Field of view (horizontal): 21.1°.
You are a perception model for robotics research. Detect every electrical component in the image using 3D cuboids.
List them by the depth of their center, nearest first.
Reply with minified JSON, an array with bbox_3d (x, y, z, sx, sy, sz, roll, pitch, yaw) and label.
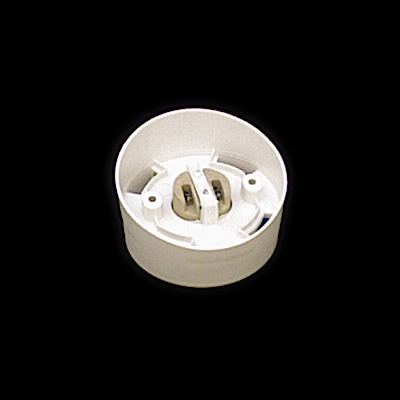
[{"bbox_3d":[0.000,0.000,0.629,0.099,0.065,0.098,0,41,0],"label":"electrical component"}]
